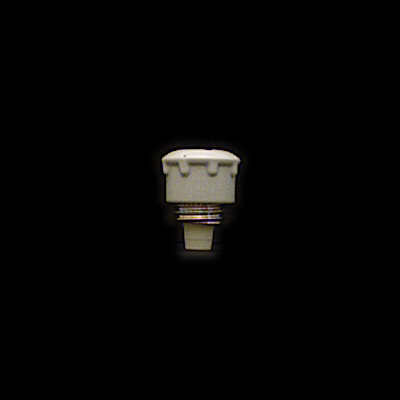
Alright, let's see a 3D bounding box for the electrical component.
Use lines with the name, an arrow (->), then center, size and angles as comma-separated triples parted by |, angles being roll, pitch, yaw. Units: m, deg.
electrical component -> 0.000, 0.000, 0.657 | 0.048, 0.062, 0.048 | 1, 2, 0
